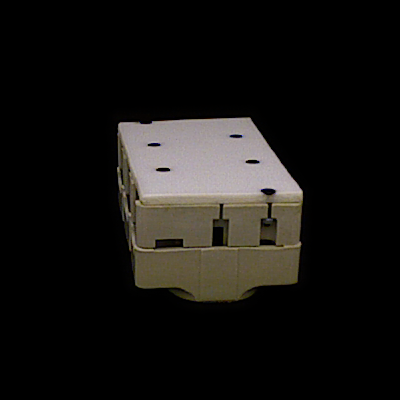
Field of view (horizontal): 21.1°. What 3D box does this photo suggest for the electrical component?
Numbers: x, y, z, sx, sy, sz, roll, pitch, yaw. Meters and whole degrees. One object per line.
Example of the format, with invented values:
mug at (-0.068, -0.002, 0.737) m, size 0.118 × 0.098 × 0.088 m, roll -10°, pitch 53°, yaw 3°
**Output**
electrical component at (0.000, 0.000, 0.643) m, size 0.089 × 0.063 × 0.147 m, roll -2°, pitch 21°, yaw -8°
